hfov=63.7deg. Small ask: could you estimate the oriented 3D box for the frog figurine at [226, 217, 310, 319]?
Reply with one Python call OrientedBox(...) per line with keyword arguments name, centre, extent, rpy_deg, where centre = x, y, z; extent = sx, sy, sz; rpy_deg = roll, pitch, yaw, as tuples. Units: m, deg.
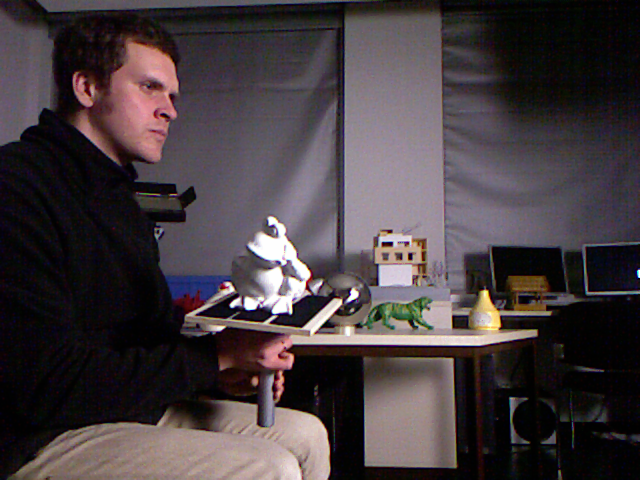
OrientedBox(name="frog figurine", centre=(-0.084, 0.038, 0.838), extent=(0.138, 0.158, 0.124), rpy_deg=(9, 12, 31))
